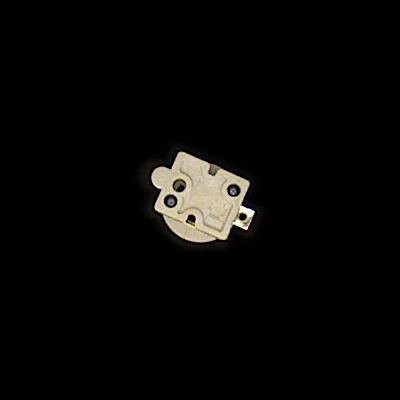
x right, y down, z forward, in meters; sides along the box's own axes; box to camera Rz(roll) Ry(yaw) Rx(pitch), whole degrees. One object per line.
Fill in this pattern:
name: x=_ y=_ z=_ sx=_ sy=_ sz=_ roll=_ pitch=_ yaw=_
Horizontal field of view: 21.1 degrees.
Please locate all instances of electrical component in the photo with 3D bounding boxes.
electrical component: x=0.000 y=0.000 z=0.639 sx=0.066 sy=0.048 sz=0.055 roll=24 pitch=-6 yaw=2
